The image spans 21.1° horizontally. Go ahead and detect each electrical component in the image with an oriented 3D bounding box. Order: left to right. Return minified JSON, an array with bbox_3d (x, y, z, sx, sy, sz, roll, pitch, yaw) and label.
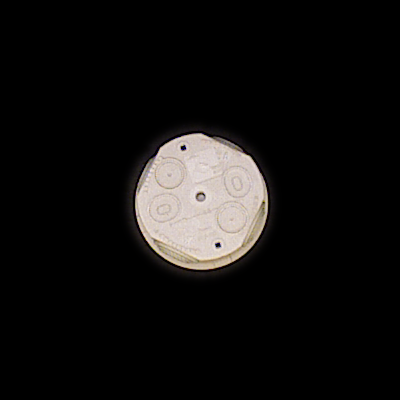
[{"bbox_3d":[0.000,0.000,0.634,0.080,0.080,0.050,0,-7,1],"label":"electrical component"}]
